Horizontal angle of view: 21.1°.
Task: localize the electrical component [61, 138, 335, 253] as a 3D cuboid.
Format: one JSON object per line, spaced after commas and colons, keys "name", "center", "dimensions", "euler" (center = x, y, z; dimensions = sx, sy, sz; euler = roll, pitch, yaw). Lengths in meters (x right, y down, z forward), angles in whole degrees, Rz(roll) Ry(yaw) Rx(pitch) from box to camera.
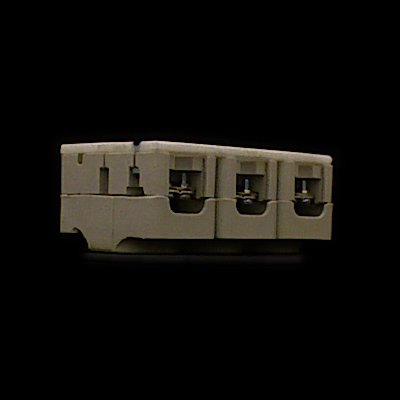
{"name": "electrical component", "center": [0.000, 0.000, 0.660], "dimensions": [0.150, 0.062, 0.089], "euler": [3, -1, -43]}
